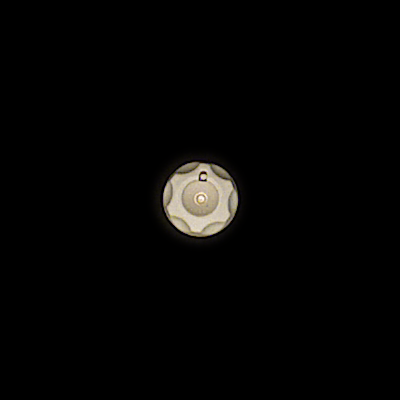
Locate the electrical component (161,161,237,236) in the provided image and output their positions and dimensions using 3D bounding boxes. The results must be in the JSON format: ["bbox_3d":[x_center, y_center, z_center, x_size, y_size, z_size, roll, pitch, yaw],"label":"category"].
[{"bbox_3d":[0.000,0.000,0.635,0.043,0.043,0.062,0,-4,1],"label":"electrical component"}]
